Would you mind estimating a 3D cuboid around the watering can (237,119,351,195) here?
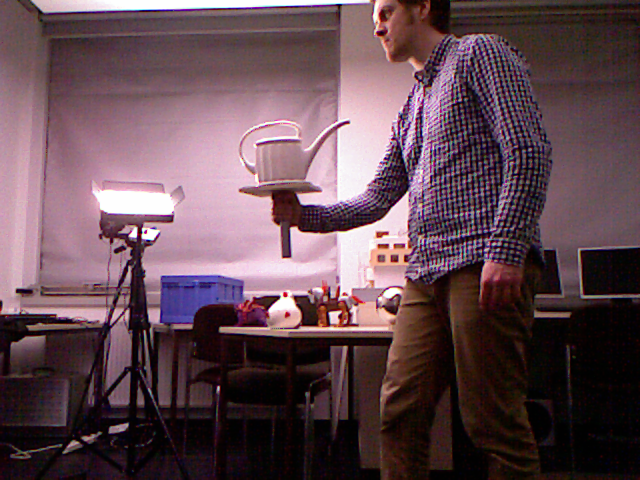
[{"bbox_3d":[-0.074,-0.247,1.523,0.348,0.223,0.105,-5,6,8],"label":"watering can"}]
